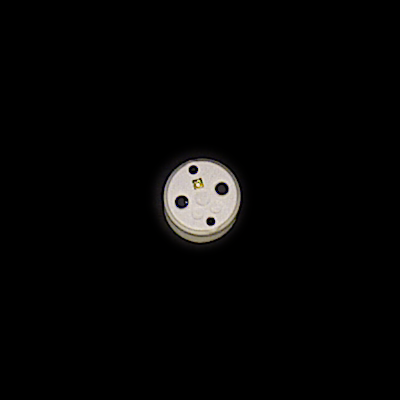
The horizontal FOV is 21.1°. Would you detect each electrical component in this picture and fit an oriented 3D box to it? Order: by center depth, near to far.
[{"bbox_3d":[0.000,0.000,0.630,0.045,0.045,0.055,0,-6,0],"label":"electrical component"}]
